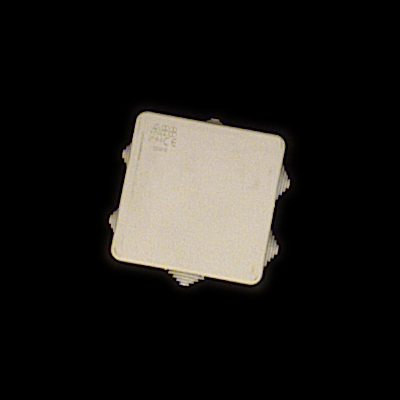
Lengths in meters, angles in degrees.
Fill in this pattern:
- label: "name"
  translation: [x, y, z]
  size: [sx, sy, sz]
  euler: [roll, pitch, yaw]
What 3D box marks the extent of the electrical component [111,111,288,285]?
- label: "electrical component"
  translation: [0.000, 0.000, 0.642]
  size: [0.100, 0.100, 0.048]
  euler: [11, -6, 1]
